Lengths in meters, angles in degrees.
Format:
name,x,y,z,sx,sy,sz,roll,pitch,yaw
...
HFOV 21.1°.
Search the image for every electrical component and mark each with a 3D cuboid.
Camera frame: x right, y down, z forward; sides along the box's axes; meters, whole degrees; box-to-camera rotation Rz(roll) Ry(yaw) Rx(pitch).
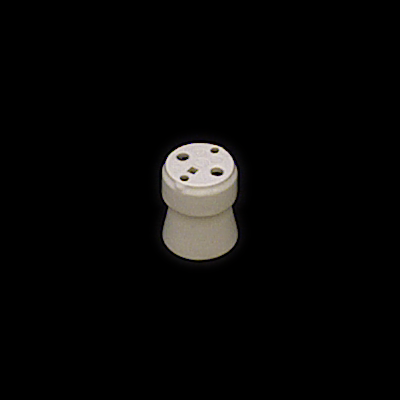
name,x,y,z,sx,sy,sz,roll,pitch,yaw
electrical component,0.000,0.000,0.633,0.045,0.055,0.044,1,42,0
